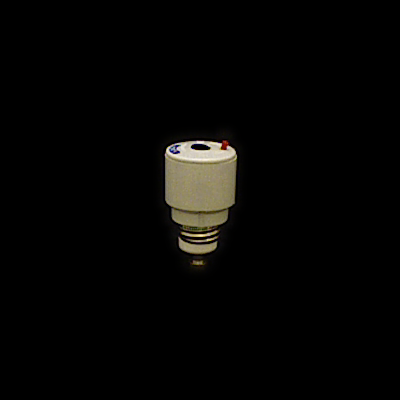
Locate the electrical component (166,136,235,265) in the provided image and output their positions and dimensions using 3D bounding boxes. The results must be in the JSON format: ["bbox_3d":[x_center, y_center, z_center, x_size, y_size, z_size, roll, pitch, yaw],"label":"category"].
[{"bbox_3d":[0.000,0.000,0.635,0.040,0.079,0.039,1,21,-1],"label":"electrical component"}]
